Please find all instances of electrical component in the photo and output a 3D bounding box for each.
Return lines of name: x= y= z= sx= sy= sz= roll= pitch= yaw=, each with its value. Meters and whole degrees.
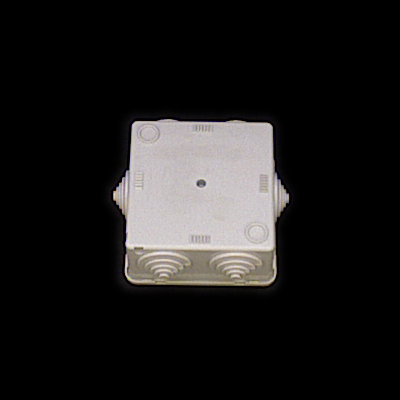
electrical component: x=0.000 y=0.000 z=0.631 sx=0.100 sy=0.100 sz=0.048 roll=1 pitch=-27 yaw=0
